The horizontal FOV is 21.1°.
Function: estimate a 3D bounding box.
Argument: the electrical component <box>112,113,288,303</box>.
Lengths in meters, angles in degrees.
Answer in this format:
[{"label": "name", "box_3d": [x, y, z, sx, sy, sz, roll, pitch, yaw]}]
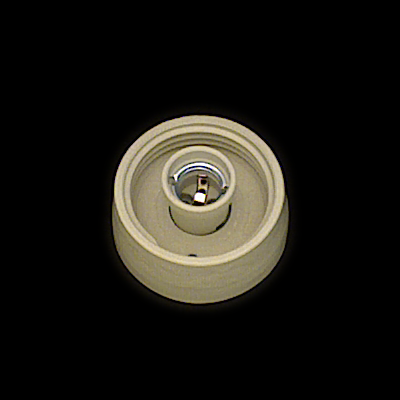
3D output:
[{"label": "electrical component", "box_3d": [0.000, 0.000, 0.633, 0.108, 0.108, 0.060, 0, -26, 0]}]
